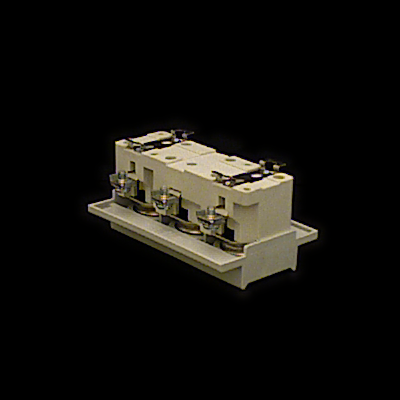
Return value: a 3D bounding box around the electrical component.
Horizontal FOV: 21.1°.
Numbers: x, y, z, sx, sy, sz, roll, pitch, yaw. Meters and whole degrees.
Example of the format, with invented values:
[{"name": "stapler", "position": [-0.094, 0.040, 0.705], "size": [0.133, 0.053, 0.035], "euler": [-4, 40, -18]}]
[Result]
[{"name": "electrical component", "position": [0.000, 0.000, 0.648], "size": [0.079, 0.064, 0.119], "euler": [-17, 28, -40]}]
